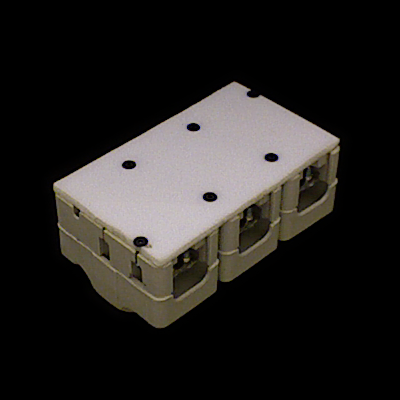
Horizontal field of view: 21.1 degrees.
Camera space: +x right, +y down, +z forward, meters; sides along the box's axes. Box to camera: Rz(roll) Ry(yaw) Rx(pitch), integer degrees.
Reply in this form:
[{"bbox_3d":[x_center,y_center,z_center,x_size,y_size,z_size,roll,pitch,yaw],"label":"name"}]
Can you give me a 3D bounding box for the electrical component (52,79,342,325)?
[{"bbox_3d":[0.000,0.000,0.639,0.149,0.063,0.088,-32,52,-32],"label":"electrical component"}]
